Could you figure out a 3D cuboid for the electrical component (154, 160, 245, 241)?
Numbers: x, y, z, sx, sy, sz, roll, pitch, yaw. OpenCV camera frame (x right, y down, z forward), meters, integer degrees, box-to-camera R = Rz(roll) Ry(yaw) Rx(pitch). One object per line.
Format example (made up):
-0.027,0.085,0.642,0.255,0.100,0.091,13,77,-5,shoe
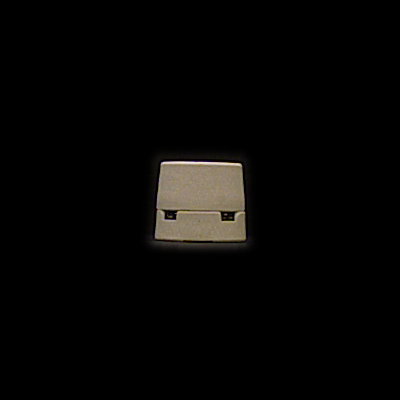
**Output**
0.000,0.000,0.649,0.055,0.047,0.055,1,2,0,electrical component
